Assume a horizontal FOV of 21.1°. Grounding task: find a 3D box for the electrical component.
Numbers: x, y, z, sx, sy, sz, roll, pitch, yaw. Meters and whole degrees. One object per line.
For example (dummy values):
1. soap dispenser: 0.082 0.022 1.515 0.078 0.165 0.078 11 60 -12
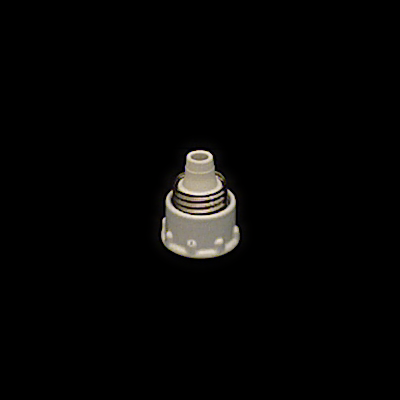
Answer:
1. electrical component: 0.000 0.000 0.641 0.048 0.063 0.047 0 31 0
